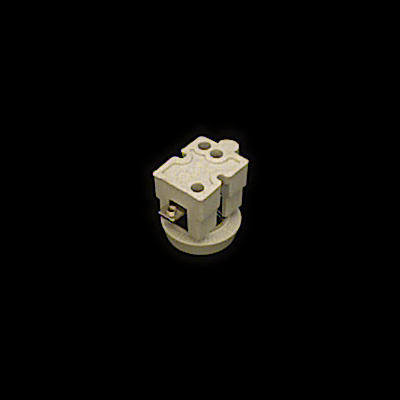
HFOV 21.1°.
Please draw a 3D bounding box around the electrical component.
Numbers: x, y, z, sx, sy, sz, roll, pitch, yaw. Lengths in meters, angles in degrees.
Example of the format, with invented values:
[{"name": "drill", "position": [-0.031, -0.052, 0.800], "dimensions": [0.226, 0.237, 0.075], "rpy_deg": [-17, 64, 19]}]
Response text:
[{"name": "electrical component", "position": [0.000, 0.000, 0.641], "dimensions": [0.048, 0.056, 0.066], "rpy_deg": [31, 51, 27]}]
